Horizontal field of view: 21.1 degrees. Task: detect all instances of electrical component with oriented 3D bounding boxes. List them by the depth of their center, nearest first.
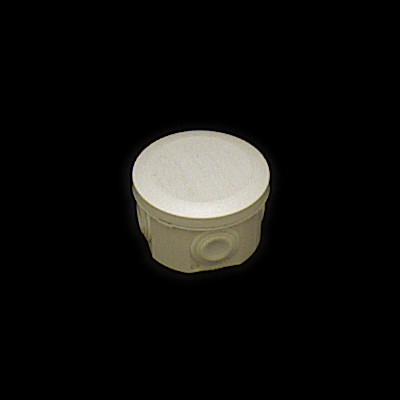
[{"bbox_3d":[0.000,0.000,0.635,0.080,0.051,0.079,1,41,0],"label":"electrical component"}]
